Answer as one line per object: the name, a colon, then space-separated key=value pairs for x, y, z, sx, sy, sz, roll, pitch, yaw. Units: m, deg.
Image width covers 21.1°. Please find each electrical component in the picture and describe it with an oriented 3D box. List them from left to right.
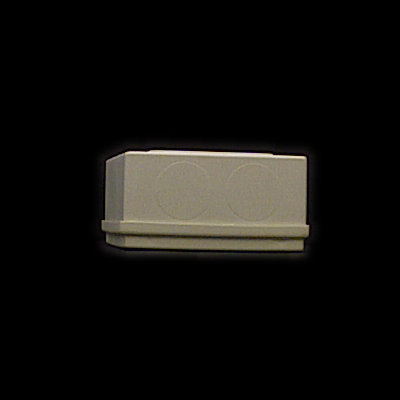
electrical component: x=0.000 y=0.000 z=0.649 sx=0.109 sy=0.056 sz=0.108 roll=1 pitch=0 yaw=-12
